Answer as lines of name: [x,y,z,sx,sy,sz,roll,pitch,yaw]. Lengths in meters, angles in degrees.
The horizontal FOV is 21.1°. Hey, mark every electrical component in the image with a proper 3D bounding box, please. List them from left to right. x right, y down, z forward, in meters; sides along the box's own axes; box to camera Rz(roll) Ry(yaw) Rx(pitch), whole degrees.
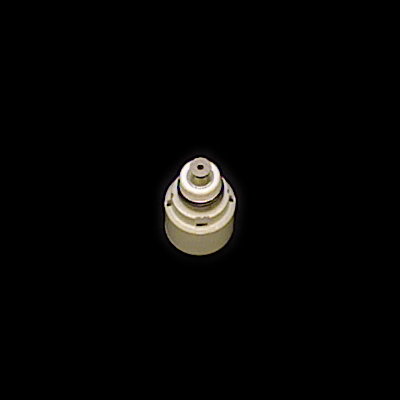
electrical component: [0.000,0.000,0.618,0.040,0.040,0.078,0,-28,-1]
